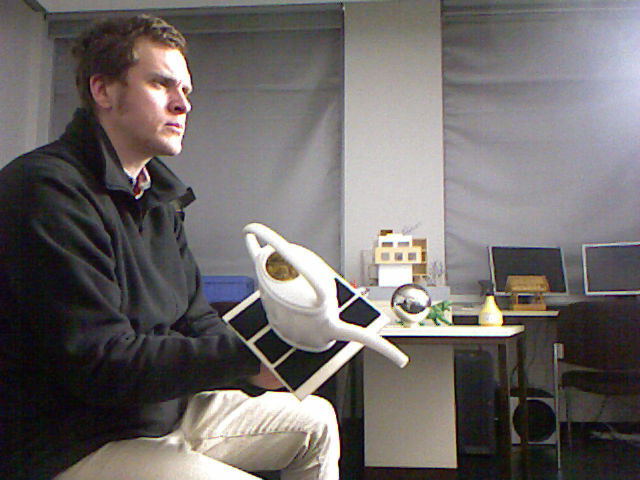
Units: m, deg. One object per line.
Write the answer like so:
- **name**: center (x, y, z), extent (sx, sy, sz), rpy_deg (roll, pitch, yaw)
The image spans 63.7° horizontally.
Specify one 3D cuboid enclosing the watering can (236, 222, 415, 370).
- **watering can**: center (-0.007, 0.108, 0.773), extent (0.105, 0.220, 0.353), rpy_deg (-39, 59, -22)
